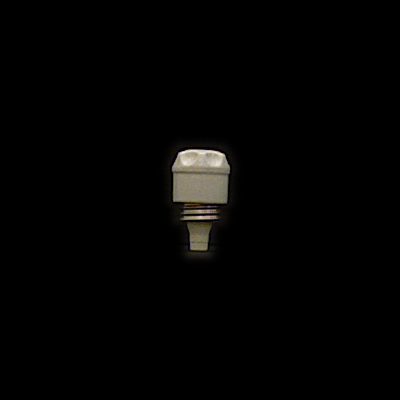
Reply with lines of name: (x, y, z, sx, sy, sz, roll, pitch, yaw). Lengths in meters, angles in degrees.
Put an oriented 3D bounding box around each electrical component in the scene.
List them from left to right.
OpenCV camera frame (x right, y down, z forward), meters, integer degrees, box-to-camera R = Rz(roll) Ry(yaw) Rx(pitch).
electrical component: (0.000, 0.000, 0.657, 0.035, 0.061, 0.035, 1, 2, 0)
